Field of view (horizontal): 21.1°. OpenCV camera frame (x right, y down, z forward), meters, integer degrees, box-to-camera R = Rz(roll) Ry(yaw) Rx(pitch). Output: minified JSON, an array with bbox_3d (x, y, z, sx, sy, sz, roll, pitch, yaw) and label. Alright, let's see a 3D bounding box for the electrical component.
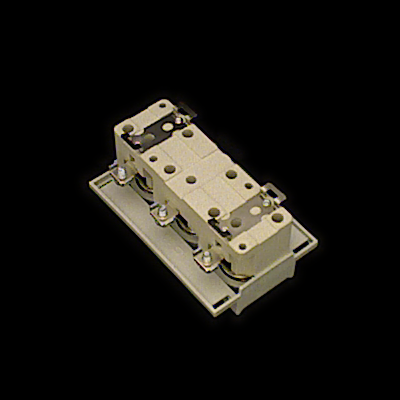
[{"bbox_3d":[0.000,0.000,0.637,0.079,0.120,0.063,-33,-30,-23],"label":"electrical component"}]
